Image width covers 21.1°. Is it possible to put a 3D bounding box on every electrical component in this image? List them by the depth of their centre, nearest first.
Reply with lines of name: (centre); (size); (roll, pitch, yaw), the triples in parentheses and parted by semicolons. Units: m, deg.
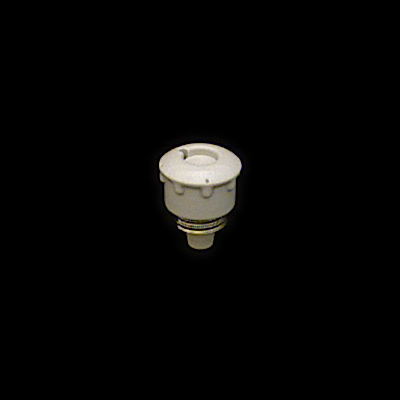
electrical component: (0.000, 0.000, 0.639); (0.048, 0.063, 0.047); (1, 32, 0)
